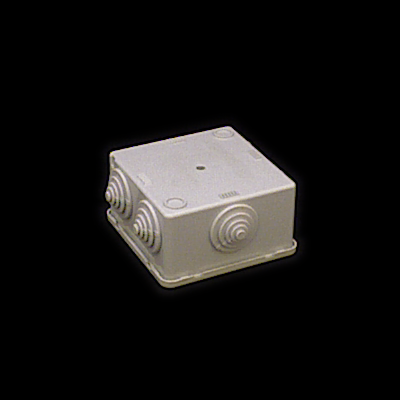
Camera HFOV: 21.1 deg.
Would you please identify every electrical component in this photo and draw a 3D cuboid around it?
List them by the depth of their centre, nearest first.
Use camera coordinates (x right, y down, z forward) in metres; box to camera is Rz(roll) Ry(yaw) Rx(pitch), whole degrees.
[{"bbox_3d":[0.000,0.000,0.638,0.100,0.049,0.098,-14,34,-23],"label":"electrical component"}]
